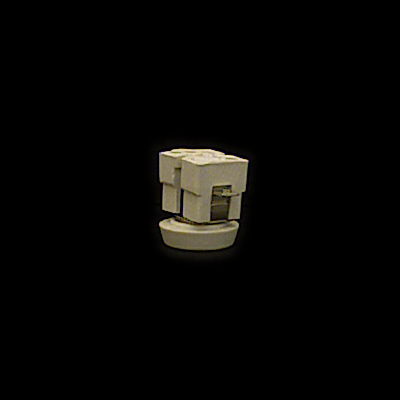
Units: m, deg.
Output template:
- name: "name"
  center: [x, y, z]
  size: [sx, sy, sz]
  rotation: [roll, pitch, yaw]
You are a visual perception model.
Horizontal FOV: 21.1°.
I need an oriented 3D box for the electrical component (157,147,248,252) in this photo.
- name: "electrical component"
  center: [0.000, 0.000, 0.651]
  size: [0.049, 0.056, 0.065]
  rotation: [-5, 14, -34]
